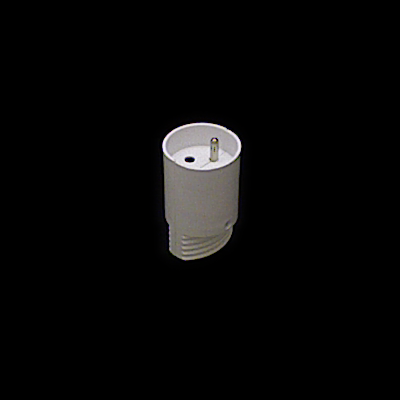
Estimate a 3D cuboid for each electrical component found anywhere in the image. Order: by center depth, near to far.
[{"bbox_3d":[0.000,0.000,0.625,0.043,0.082,0.042,1,42,-1],"label":"electrical component"}]
